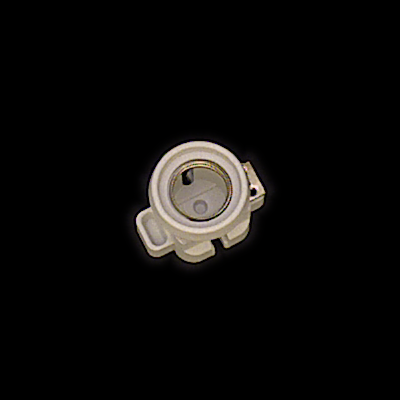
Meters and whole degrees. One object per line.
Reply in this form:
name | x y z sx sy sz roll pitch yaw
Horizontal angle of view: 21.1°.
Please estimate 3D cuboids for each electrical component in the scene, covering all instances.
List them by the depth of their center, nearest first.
electrical component | 0.000 0.000 0.629 0.079 0.058 0.056 -26 -15 -8
